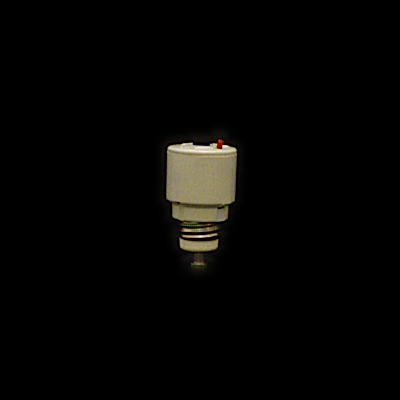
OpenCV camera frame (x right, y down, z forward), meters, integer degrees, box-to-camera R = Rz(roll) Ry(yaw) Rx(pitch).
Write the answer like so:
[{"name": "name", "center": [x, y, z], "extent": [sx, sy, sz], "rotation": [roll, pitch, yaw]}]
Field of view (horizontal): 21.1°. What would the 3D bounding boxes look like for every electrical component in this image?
[{"name": "electrical component", "center": [0.000, 0.000, 0.640], "extent": [0.040, 0.079, 0.040], "rotation": [2, 11, 0]}]
